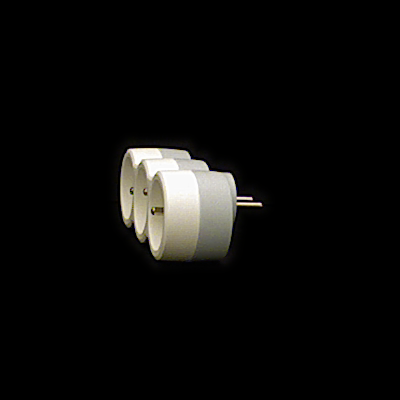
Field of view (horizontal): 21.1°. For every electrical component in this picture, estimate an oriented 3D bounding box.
[{"bbox_3d":[0.000,0.000,0.651,0.074,0.052,0.136,0,11,-15],"label":"electrical component"}]
